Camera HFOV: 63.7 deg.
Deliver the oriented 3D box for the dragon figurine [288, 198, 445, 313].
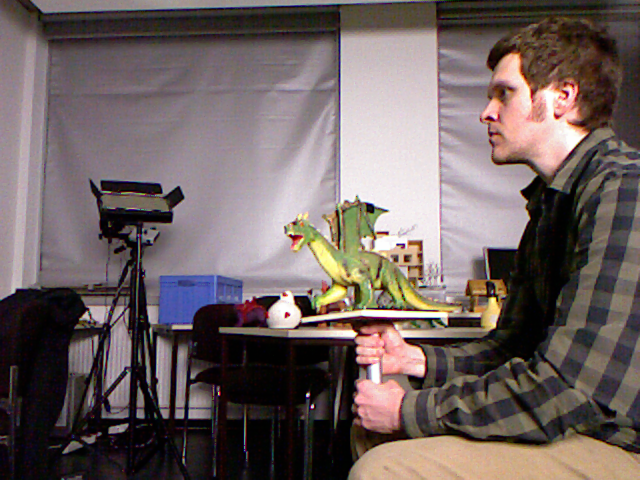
[{"bbox_3d":[0.100,0.029,1.042,0.410,0.245,0.121,7,-15,-37],"label":"dragon figurine"}]
